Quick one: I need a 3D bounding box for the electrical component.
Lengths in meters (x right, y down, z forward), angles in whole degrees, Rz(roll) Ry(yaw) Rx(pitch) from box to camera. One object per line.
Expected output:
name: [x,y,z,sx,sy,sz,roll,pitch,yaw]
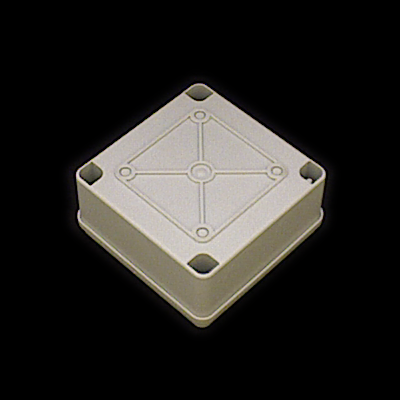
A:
electrical component: [0.000,0.000,0.630,0.108,0.056,0.108,38,61,24]
